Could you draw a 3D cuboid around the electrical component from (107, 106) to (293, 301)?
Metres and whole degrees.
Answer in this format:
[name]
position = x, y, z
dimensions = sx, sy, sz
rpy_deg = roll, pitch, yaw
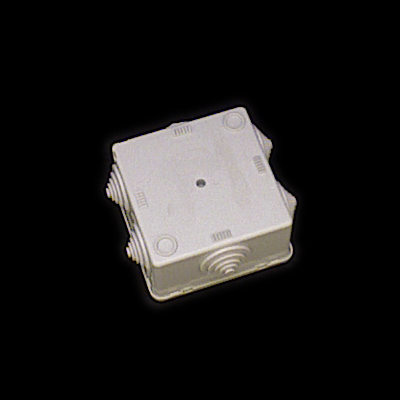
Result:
[electrical component]
position = 0.000, 0.000, 0.632
dimensions = 0.100, 0.099, 0.048
rpy_deg = -17, -26, -9
